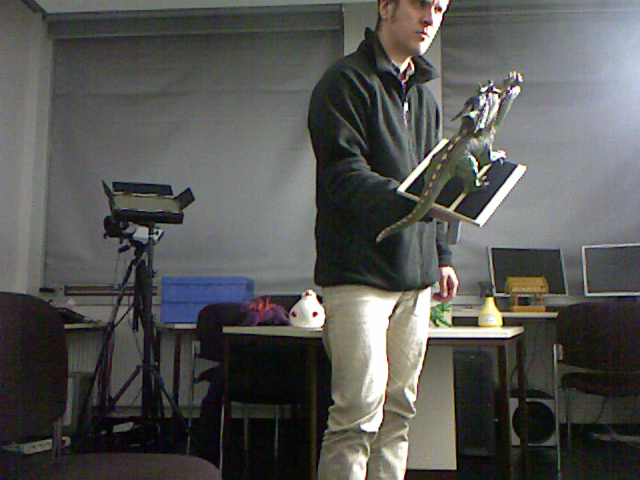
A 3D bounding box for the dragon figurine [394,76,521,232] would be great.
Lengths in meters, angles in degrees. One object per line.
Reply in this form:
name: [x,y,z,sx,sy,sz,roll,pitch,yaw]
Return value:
dragon figurine: [0.292,-0.203,1.055,0.123,0.417,0.237,33,-27,27]
